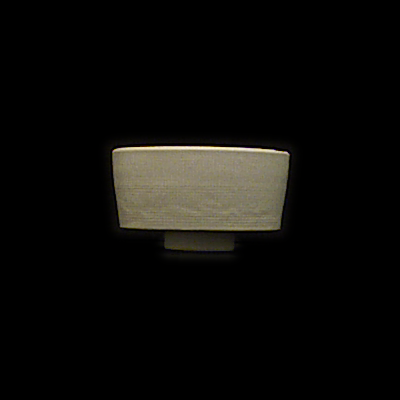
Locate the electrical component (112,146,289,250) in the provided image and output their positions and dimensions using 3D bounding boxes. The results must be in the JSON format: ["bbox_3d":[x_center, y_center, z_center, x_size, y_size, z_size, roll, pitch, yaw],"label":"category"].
[{"bbox_3d":[0.000,0.000,0.657,0.108,0.060,0.108,1,1,0],"label":"electrical component"}]
